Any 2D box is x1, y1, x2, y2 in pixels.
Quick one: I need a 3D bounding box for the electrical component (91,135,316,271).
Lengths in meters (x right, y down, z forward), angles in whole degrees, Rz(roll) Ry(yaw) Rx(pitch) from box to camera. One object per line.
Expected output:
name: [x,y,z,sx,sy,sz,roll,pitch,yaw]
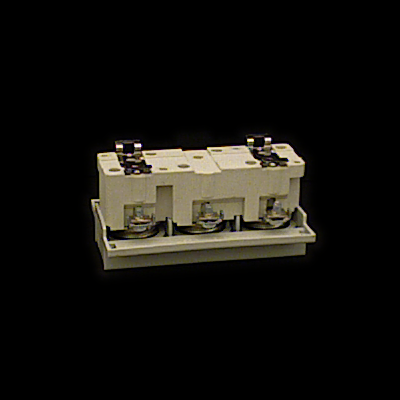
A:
electrical component: [0.000,0.000,0.643,0.122,0.064,0.077,-4,23,-12]
